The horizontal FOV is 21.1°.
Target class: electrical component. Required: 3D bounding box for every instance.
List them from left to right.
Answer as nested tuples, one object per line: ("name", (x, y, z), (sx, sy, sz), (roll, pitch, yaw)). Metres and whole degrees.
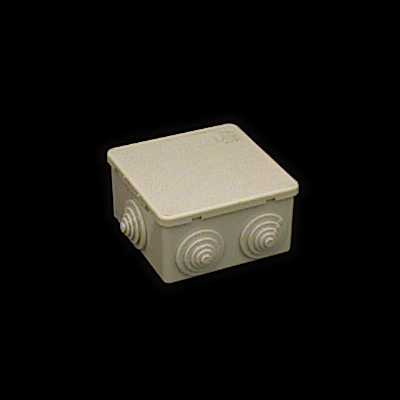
("electrical component", (0.000, 0.000, 0.646), (0.100, 0.049, 0.098), (-14, 35, -22))
